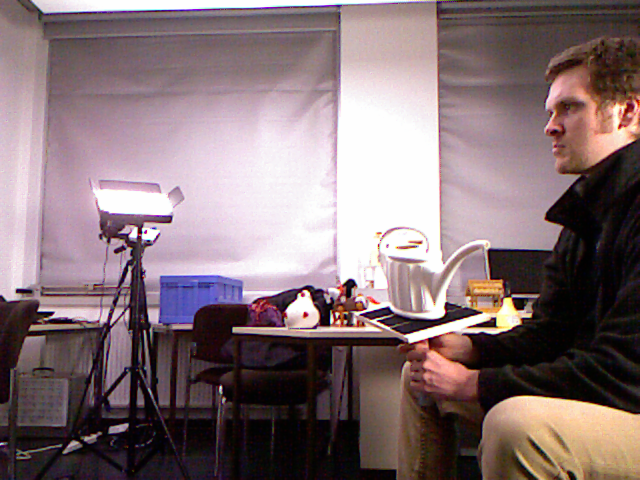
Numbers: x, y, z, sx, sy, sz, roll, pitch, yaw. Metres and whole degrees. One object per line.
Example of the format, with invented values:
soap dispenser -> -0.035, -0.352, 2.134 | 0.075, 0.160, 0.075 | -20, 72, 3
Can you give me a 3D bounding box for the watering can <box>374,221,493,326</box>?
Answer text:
watering can -> 0.220, 0.075, 1.060 | 0.105, 0.223, 0.349 | -13, 12, -27
